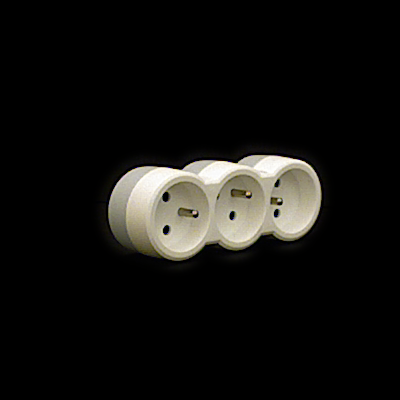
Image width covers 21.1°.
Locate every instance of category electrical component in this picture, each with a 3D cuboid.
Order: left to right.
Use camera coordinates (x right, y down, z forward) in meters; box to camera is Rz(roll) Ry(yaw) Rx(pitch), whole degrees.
[{"bbox_3d":[0.000,0.000,0.655,0.139,0.052,0.072,-8,13,-39],"label":"electrical component"}]
